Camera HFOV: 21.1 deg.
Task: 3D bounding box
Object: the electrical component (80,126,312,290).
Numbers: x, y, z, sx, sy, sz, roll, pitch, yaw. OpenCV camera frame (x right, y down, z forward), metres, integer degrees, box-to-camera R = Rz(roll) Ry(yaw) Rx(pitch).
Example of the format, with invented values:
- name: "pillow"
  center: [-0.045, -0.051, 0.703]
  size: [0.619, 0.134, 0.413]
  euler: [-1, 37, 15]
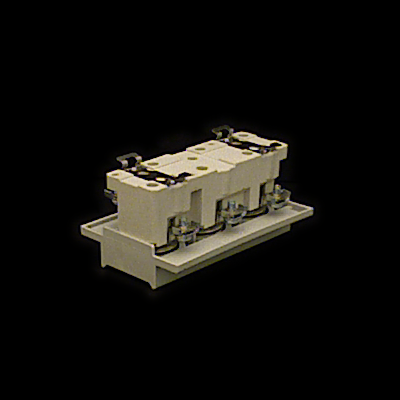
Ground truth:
- name: "electrical component"
  center: [0.000, 0.000, 0.644]
  size: [0.078, 0.064, 0.121]
  euler: [20, 28, 38]
